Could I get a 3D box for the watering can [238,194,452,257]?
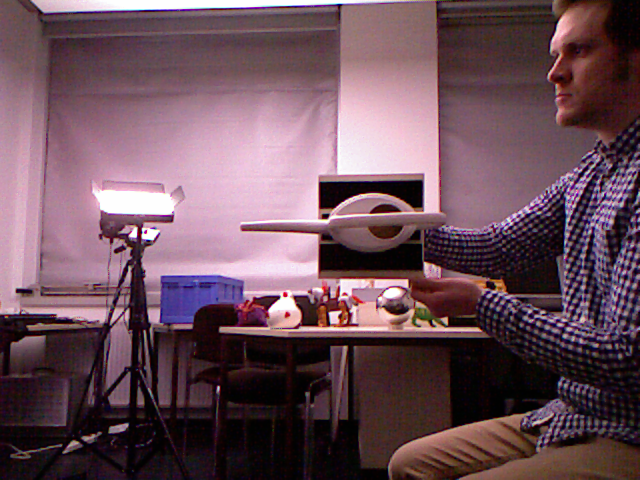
[{"bbox_3d":[0.048,-0.023,0.905,0.349,0.105,0.224,-2,-5,4],"label":"watering can"}]
